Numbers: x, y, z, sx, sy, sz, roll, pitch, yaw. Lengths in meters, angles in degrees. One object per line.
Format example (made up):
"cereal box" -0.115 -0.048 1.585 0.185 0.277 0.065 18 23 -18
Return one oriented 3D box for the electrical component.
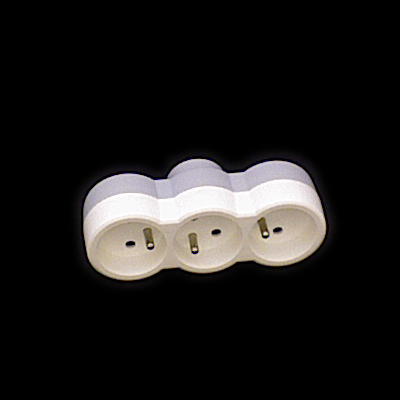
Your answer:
"electrical component" 0.000 0.000 0.633 0.138 0.052 0.073 -6 40 -6
